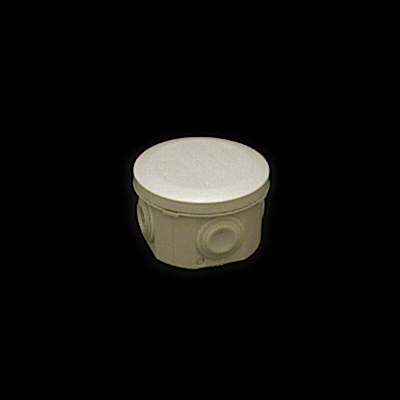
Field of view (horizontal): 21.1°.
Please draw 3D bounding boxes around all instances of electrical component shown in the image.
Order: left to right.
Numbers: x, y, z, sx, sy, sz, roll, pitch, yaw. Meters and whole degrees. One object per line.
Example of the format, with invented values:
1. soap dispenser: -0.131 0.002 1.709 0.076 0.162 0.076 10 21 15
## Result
1. electrical component: 0.000 0.000 0.638 0.080 0.051 0.079 1 31 0
